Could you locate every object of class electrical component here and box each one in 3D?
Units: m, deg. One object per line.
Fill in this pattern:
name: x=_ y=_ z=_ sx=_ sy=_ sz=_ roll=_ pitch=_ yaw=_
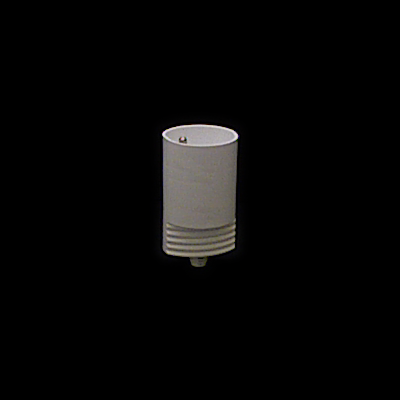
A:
electrical component: x=0.000 y=0.000 z=0.632 sx=0.043 sy=0.082 sz=0.042 roll=0 pitch=21 yaw=0
